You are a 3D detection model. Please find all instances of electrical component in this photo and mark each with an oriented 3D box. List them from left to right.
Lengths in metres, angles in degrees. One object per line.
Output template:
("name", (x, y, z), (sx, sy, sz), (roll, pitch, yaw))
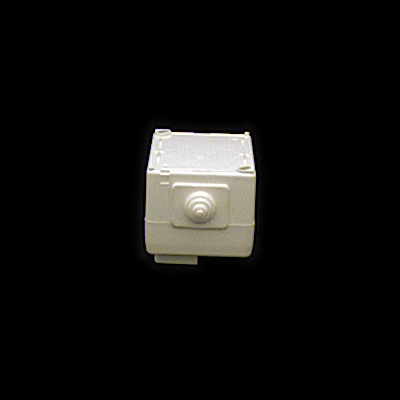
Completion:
("electrical component", (0.000, 0.000, 0.632), (0.062, 0.061, 0.095), (2, 20, 0))
